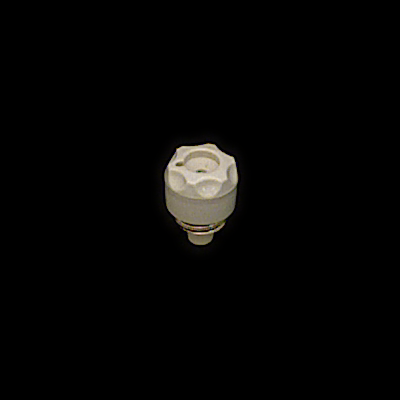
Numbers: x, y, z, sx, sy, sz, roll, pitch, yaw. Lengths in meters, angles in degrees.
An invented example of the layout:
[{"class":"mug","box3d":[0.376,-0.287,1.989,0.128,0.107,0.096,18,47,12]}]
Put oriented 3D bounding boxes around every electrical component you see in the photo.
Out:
[{"class":"electrical component","box3d":[0.000,0.000,0.639,0.043,0.062,0.043,1,42,0]}]
